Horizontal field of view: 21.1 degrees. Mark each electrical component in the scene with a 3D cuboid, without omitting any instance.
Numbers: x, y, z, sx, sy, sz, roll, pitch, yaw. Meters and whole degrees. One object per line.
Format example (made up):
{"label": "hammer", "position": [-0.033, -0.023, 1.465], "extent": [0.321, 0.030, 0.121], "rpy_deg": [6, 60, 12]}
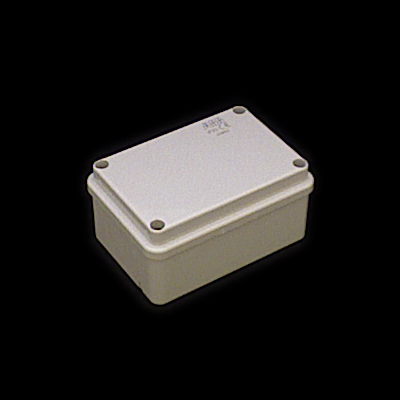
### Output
{"label": "electrical component", "position": [0.000, 0.000, 0.632], "extent": [0.113, 0.057, 0.077], "rpy_deg": [-24, 47, -25]}
